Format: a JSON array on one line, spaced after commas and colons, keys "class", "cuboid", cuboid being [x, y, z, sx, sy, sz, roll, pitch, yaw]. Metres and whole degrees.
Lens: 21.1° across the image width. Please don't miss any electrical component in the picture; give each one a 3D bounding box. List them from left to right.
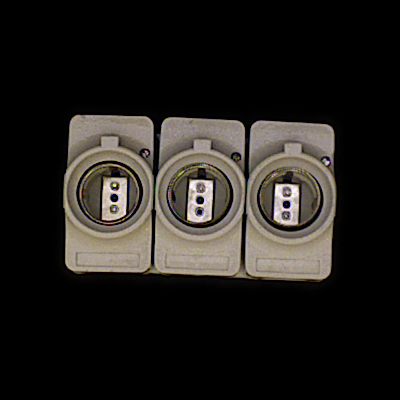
[{"class": "electrical component", "cuboid": [0.000, 0.000, 0.632, 0.150, 0.089, 0.061, 2, -7, 0]}]
